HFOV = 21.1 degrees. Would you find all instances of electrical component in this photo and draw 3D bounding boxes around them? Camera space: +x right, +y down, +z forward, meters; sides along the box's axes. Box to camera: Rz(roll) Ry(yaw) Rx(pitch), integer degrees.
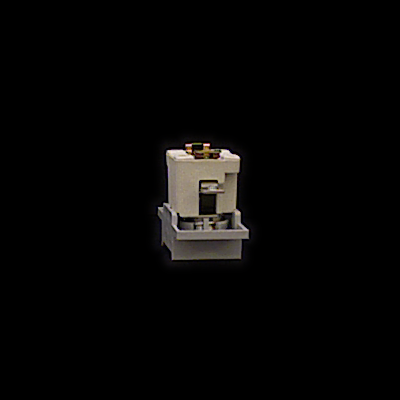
[{"bbox_3d":[0.000,0.000,0.644,0.042,0.064,0.080,-1,11,-11],"label":"electrical component"}]
